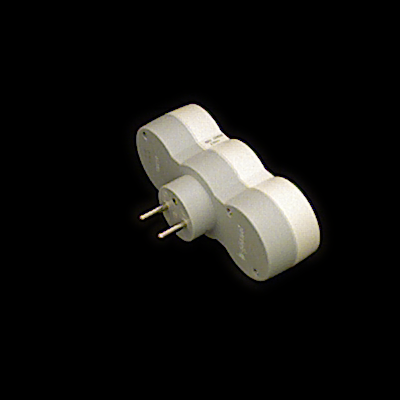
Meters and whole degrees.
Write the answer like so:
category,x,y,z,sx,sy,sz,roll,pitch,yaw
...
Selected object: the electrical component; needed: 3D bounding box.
category,x,y,z,sx,sy,sz,roll,pitch,yaw
electrical component,0.000,0.000,0.640,0.074,0.052,0.136,-27,50,-25
